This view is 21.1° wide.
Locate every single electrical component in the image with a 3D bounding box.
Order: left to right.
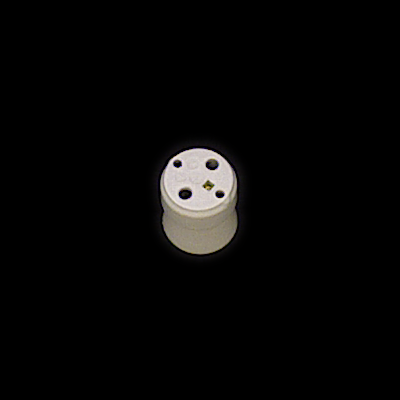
[{"bbox_3d":[0.000,0.000,0.628,0.045,0.045,0.055,0,-27,0],"label":"electrical component"}]
